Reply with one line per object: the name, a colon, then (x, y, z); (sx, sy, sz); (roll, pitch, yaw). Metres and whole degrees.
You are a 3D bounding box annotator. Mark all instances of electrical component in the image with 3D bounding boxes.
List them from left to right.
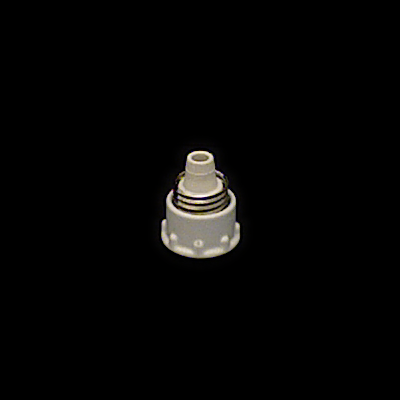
electrical component: (0.000, 0.000, 0.639); (0.048, 0.063, 0.047); (0, 33, 1)
